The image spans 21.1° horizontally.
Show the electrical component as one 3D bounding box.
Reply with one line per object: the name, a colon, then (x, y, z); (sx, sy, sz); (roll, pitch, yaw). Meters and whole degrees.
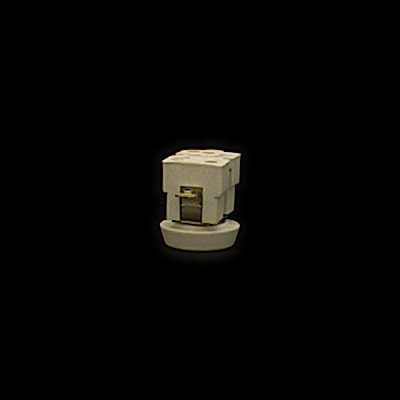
electrical component: (0.000, 0.000, 0.652); (0.048, 0.056, 0.066); (6, 13, 16)
